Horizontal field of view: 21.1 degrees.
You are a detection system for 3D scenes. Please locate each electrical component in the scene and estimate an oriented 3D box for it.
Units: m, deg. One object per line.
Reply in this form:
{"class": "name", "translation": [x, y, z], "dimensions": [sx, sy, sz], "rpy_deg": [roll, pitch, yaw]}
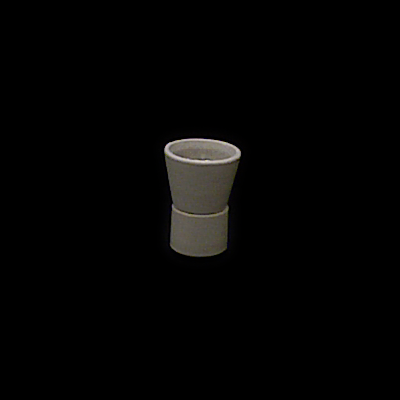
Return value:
{"class": "electrical component", "translation": [0.000, 0.000, 0.639], "dimensions": [0.044, 0.066, 0.044], "rpy_deg": [2, 21, -1]}
